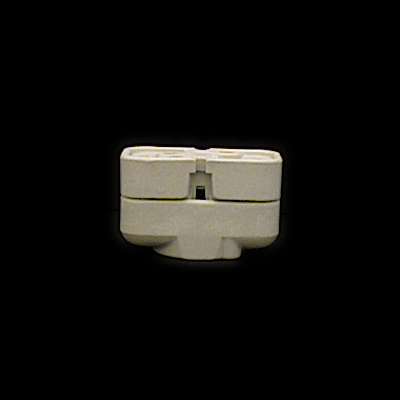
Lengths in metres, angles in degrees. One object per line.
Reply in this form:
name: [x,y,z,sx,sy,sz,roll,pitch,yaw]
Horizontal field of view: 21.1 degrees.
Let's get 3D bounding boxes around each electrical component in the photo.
electrical component: [0.000,0.000,0.649,0.095,0.060,0.053,2,11,0]
